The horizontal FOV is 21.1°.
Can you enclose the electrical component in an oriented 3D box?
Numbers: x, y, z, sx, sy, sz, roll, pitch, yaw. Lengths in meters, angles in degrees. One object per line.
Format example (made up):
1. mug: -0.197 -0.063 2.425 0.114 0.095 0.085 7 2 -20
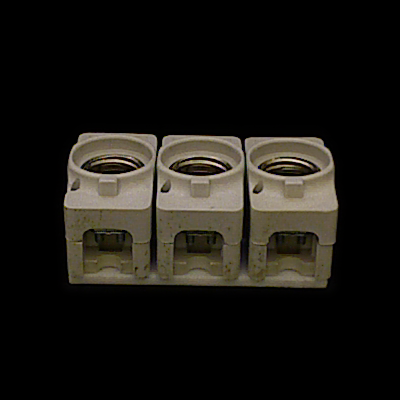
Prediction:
1. electrical component: 0.000 0.000 0.639 0.150 0.063 0.087 0 32 0
